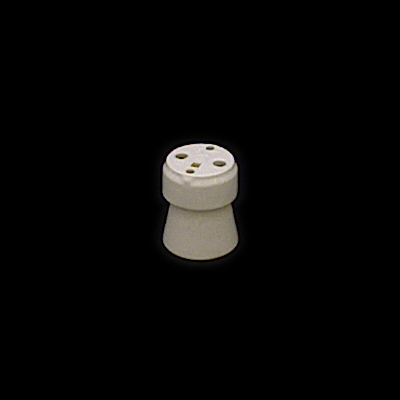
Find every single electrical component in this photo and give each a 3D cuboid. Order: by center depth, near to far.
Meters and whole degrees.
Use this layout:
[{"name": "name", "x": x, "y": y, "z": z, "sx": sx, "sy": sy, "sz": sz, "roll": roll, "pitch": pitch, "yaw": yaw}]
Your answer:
[{"name": "electrical component", "x": 0.000, "y": 0.000, "z": 0.636, "sx": 0.045, "sy": 0.056, "sz": 0.044, "roll": 1, "pitch": 31, "yaw": 0}]
